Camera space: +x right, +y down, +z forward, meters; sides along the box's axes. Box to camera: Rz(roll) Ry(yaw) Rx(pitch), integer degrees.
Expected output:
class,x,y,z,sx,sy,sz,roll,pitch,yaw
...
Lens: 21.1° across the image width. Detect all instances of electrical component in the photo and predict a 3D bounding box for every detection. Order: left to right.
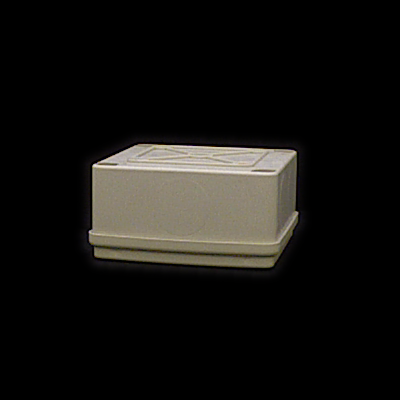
class,x,y,z,sx,sy,sz,roll,pitch,yaw
electrical component,0.000,0.000,0.641,0.108,0.056,0.108,3,11,11
